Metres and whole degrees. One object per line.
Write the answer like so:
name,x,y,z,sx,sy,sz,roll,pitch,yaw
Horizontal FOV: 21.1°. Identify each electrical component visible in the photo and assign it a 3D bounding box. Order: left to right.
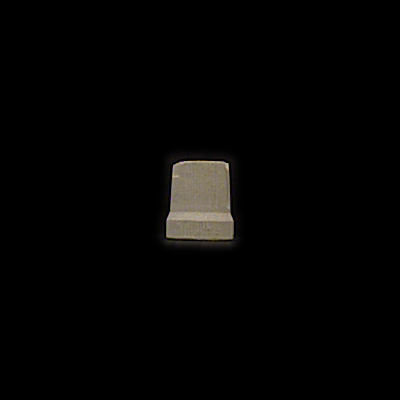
electrical component,0.000,0.000,0.651,0.040,0.046,0.040,2,1,0
